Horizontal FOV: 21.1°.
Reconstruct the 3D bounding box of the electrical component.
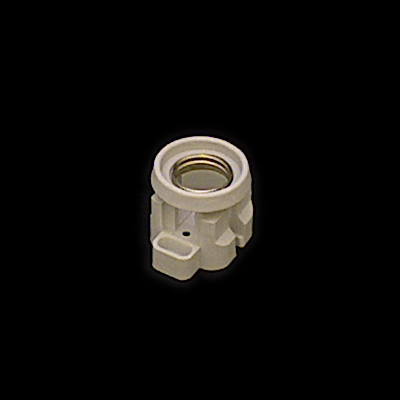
[{"bbox_3d":[0.000,0.000,0.633,0.057,0.057,0.078,22,46,22],"label":"electrical component"}]
